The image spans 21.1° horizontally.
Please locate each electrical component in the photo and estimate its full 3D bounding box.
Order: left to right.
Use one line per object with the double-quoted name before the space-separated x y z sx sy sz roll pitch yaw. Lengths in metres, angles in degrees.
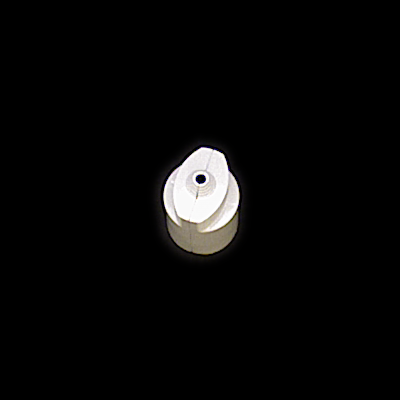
"electrical component" 0.000 0.000 0.616 0.043 0.043 0.080 0 -17 0
